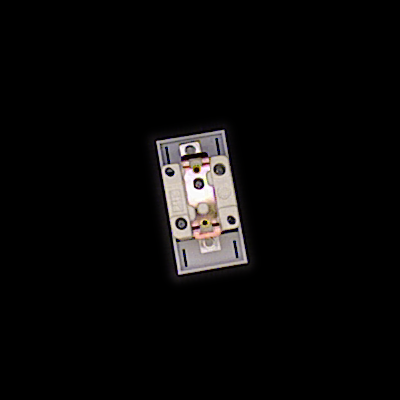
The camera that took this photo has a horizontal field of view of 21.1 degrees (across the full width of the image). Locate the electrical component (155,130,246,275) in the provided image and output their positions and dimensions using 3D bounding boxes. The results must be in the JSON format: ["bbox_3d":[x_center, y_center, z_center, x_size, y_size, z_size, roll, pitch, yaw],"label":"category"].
[{"bbox_3d":[0.000,0.000,0.626,0.042,0.081,0.063,-10,-7,-1],"label":"electrical component"}]
